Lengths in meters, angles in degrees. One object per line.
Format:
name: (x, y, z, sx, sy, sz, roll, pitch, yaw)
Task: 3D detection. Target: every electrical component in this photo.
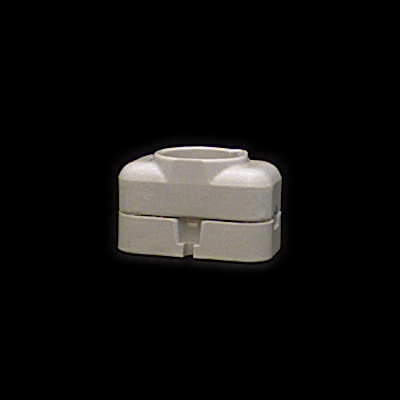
electrical component: (0.000, 0.000, 0.652, 0.095, 0.060, 0.053, 4, 13, 13)
